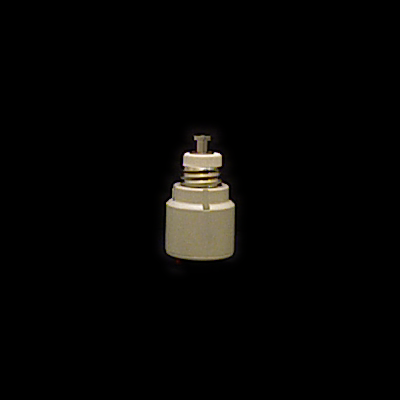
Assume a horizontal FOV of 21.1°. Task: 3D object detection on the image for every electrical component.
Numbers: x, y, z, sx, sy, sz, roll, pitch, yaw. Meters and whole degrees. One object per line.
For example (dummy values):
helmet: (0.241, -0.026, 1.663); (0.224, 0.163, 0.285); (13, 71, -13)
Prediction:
electrical component: (0.000, 0.000, 0.644); (0.040, 0.079, 0.040); (2, 12, 0)
